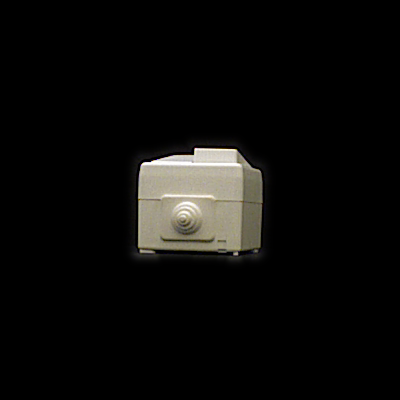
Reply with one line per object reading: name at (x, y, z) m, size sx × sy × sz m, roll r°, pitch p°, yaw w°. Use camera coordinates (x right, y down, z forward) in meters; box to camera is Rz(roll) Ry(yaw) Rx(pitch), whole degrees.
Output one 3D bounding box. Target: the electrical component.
electrical component at (0.000, 0.000, 0.647) m, size 0.061 × 0.061 × 0.096 m, roll 1°, pitch 0°, yaw 12°
